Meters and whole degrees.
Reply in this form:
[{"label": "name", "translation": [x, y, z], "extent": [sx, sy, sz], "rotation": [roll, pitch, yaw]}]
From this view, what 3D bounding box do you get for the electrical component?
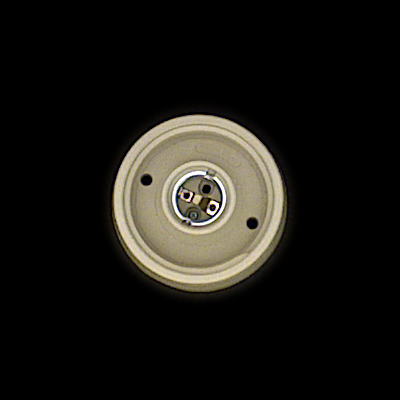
[{"label": "electrical component", "translation": [0.000, 0.000, 0.634], "extent": [0.108, 0.108, 0.060], "rotation": [0, -6, 0]}]
